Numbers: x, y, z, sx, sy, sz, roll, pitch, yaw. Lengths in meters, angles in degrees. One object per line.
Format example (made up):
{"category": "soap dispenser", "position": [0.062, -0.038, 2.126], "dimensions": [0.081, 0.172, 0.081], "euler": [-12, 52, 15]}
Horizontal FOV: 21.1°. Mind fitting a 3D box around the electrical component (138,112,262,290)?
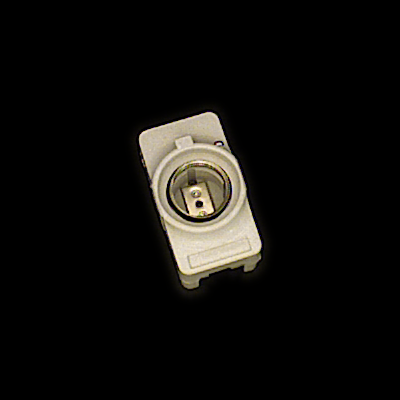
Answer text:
{"category": "electrical component", "position": [0.000, 0.000, 0.636], "dimensions": [0.050, 0.090, 0.055], "euler": [-17, -15, -5]}
